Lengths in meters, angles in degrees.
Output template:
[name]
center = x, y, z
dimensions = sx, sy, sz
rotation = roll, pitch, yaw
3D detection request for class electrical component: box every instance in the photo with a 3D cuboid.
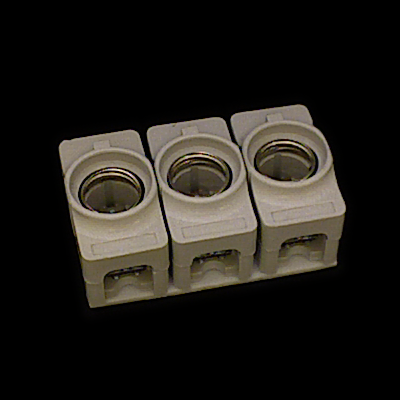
[electrical component]
center = 0.000, 0.000, 0.634
dimensions = 0.150, 0.088, 0.062
rotation = -10, -38, -8
